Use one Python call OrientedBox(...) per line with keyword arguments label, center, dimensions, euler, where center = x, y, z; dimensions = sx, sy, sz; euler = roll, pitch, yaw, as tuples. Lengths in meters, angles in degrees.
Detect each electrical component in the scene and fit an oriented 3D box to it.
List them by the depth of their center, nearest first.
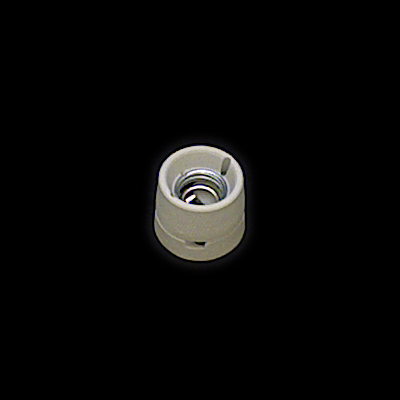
OrientedBox(label="electrical component", center=(0.000, 0.000, 0.635), dimensions=(0.055, 0.055, 0.047), euler=(0, -38, -2))
